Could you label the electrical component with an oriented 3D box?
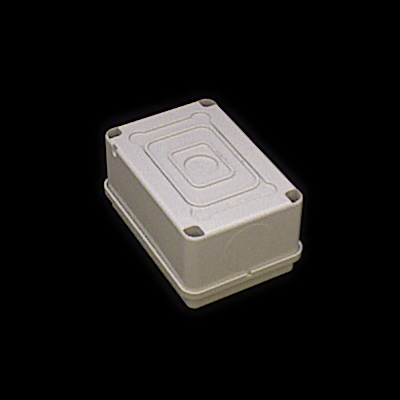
[{"bbox_3d":[0.000,0.000,0.631,0.078,0.057,0.112,-20,46,-22],"label":"electrical component"}]
